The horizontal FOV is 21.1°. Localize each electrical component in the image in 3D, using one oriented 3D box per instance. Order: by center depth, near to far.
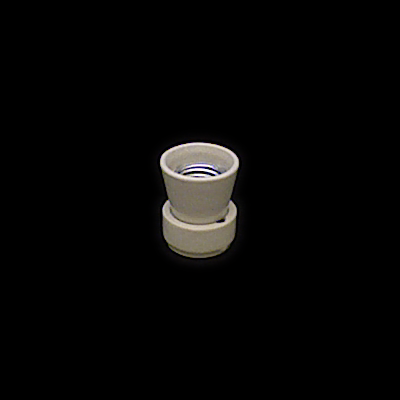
[{"bbox_3d":[0.000,0.000,0.633,0.045,0.056,0.044,0,32,0],"label":"electrical component"}]
